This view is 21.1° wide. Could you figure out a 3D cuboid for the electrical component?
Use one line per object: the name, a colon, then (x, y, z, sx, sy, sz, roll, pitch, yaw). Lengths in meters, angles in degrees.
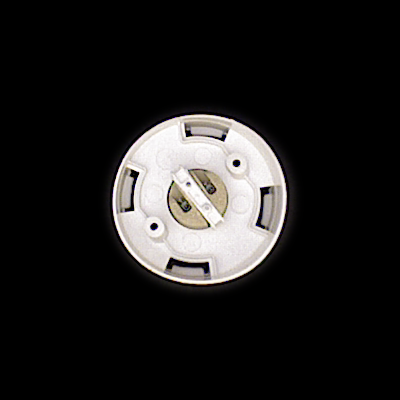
electrical component: (0.000, 0.000, 0.624, 0.099, 0.099, 0.064, 0, -6, -1)
